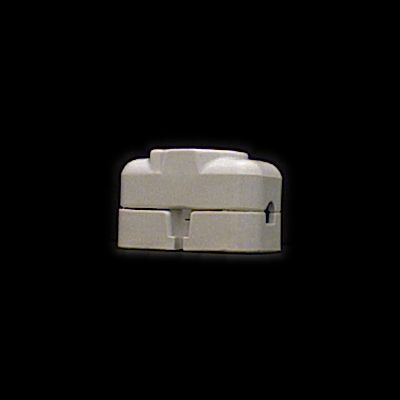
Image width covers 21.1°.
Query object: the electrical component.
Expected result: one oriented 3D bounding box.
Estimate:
[{"bbox_3d":[0.000,0.000,0.655,0.094,0.059,0.054,1,1,26],"label":"electrical component"}]
